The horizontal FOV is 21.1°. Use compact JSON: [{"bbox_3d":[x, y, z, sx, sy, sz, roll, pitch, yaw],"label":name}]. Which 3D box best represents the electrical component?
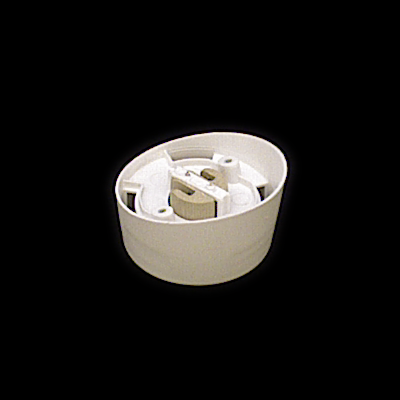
[{"bbox_3d":[0.000,0.000,0.629,0.099,0.065,0.098,1,42,-1],"label":"electrical component"}]
